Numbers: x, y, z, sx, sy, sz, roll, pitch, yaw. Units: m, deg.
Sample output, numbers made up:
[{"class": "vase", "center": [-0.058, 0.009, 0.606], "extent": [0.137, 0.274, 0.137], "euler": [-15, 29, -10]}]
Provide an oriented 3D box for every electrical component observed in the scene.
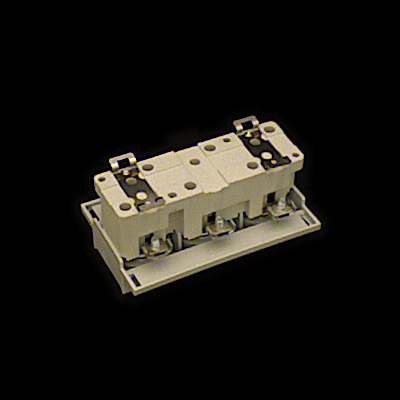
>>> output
[{"class": "electrical component", "center": [0.000, 0.000, 0.636], "extent": [0.122, 0.063, 0.077], "euler": [-19, 47, -20]}]
